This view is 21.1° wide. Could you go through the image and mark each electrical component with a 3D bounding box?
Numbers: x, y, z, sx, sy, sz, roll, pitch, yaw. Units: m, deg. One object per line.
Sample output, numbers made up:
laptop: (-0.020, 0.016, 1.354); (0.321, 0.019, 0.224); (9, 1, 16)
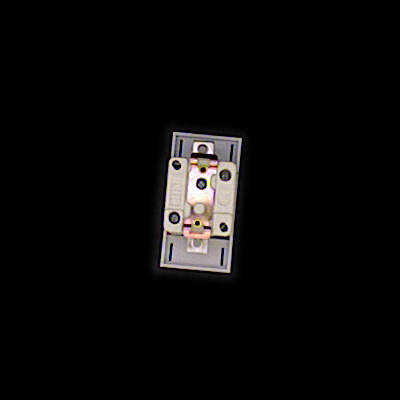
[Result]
electrical component: (0.000, 0.000, 0.626); (0.042, 0.081, 0.063); (5, -7, 1)
